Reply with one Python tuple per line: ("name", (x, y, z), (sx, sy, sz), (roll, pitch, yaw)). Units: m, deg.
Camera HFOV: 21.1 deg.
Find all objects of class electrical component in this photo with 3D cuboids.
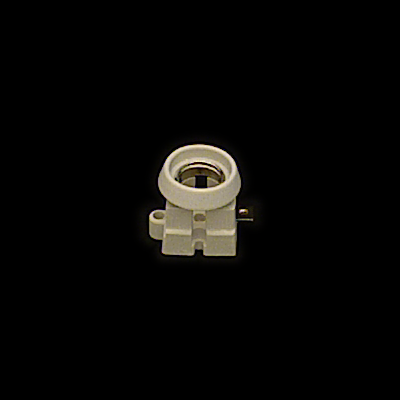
("electrical component", (0.000, 0.000, 0.641), (0.066, 0.056, 0.048), (1, 44, 0))
